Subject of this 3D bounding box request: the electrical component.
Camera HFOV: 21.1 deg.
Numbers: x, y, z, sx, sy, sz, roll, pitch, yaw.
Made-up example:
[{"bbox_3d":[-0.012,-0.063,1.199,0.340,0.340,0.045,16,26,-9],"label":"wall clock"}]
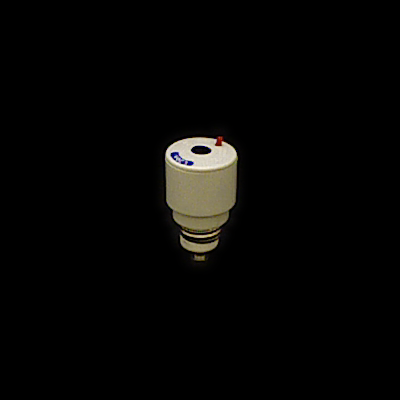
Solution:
[{"bbox_3d":[0.000,0.000,0.630,0.040,0.079,0.039,1,31,0],"label":"electrical component"}]
